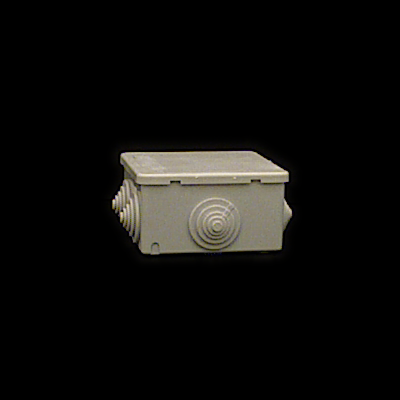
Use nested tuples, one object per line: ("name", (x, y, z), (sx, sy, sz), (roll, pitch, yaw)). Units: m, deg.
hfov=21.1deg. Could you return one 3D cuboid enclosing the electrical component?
("electrical component", (0.000, 0.000, 0.652), (0.100, 0.049, 0.098), (-1, 12, -11))
